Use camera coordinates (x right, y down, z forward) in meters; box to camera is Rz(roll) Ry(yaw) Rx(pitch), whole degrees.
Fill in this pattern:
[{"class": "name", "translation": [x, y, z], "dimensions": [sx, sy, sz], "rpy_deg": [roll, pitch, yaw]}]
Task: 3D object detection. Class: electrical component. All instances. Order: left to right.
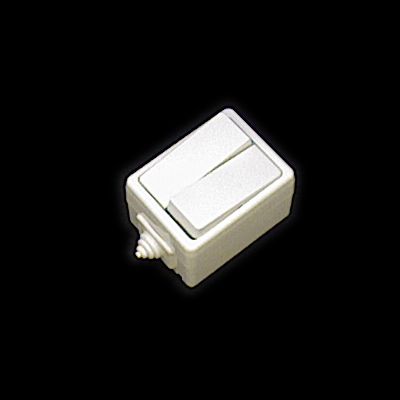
[{"class": "electrical component", "translation": [0.000, 0.000, 0.626], "dimensions": [0.096, 0.062, 0.060], "rpy_deg": [-36, -22, -17]}]
